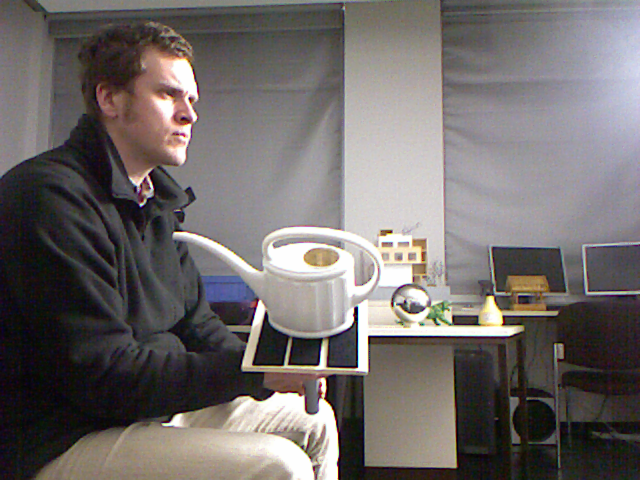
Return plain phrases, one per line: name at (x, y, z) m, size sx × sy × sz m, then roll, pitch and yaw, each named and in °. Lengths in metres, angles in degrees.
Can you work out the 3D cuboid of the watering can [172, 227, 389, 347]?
watering can at (-0.061, 0.071, 0.864) m, size 0.348 × 0.220 × 0.106 m, roll 2°, pitch 34°, yaw 6°
